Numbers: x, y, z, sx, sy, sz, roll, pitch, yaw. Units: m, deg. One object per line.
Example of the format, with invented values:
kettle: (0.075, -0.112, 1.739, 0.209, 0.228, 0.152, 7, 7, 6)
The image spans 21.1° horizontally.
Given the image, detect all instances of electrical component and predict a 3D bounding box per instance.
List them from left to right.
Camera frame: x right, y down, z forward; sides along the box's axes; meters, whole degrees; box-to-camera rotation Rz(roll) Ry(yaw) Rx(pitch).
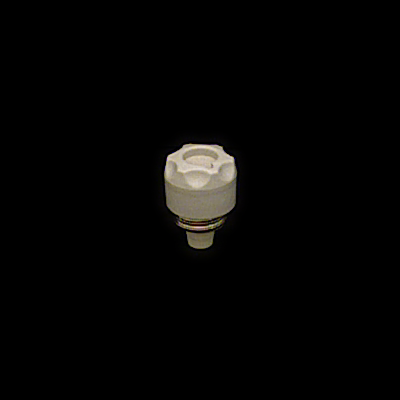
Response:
electrical component: (0.000, 0.000, 0.642, 0.043, 0.063, 0.043, 0, 32, 0)
